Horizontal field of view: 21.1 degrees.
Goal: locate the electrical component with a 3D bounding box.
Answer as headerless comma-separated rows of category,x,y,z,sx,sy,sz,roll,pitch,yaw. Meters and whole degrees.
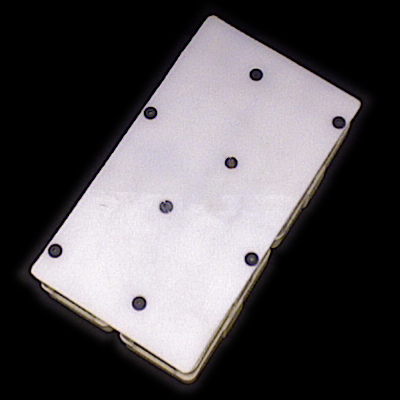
electrical component,0.000,0.000,0.625,0.105,0.187,0.060,31,-14,9
